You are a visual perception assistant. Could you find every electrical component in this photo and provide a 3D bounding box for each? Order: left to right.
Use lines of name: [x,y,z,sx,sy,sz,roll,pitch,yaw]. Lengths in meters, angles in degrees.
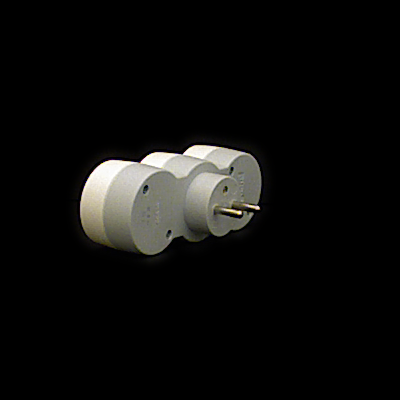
electrical component: [0.000,0.000,0.649,0.073,0.052,0.138,11,15,34]
